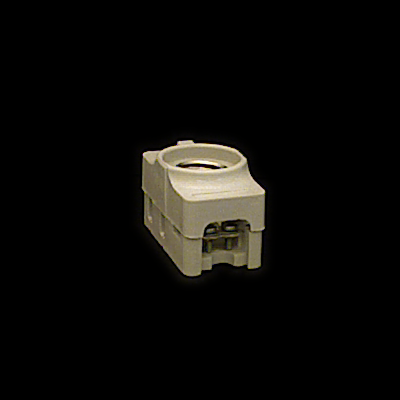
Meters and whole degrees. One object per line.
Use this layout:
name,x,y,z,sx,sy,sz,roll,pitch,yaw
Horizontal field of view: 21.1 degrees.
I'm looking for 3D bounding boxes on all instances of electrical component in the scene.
electrical component,0.000,0.000,0.647,0.050,0.056,0.088,-7,23,-19
